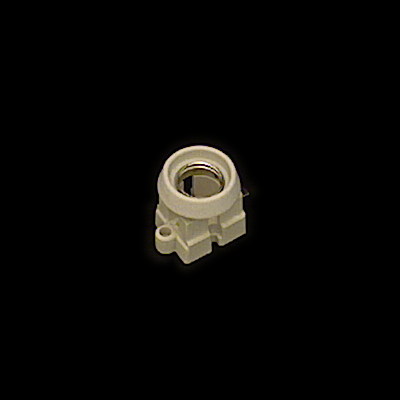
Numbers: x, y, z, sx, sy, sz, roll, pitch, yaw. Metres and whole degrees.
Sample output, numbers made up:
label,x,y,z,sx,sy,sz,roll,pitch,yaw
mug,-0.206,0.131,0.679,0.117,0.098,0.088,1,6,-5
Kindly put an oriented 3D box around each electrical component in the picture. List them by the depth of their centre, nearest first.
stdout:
label,x,y,z,sx,sy,sz,roll,pitch,yaw
electrical component,0.000,0.000,0.639,0.067,0.048,0.056,-28,-30,-20
